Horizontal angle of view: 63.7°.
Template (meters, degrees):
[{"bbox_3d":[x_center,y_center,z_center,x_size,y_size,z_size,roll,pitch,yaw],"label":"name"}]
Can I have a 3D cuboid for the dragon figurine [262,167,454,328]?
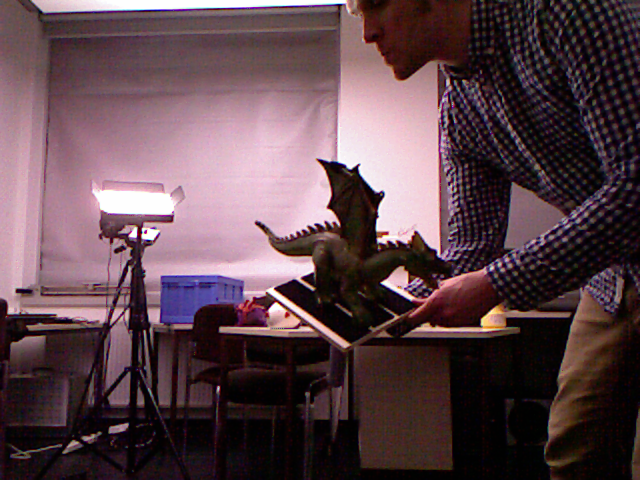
[{"bbox_3d":[0.032,-0.012,0.864,0.414,0.238,0.123,29,36,35],"label":"dragon figurine"}]
